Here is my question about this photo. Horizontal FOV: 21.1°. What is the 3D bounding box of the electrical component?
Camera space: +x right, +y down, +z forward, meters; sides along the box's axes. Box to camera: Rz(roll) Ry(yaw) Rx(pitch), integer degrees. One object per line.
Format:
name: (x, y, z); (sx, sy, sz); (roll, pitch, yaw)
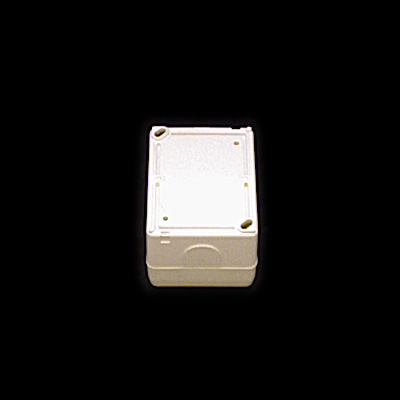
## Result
electrical component: (0.000, 0.000, 0.630); (0.062, 0.096, 0.061); (0, -39, 0)
